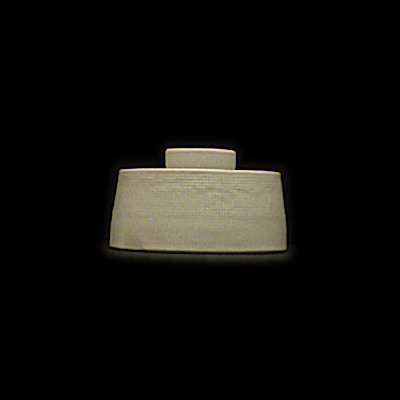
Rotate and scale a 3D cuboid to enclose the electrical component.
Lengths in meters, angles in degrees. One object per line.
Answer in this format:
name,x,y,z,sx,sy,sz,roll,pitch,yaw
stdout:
electrical component,0.000,0.000,0.654,0.108,0.060,0.108,2,1,1
